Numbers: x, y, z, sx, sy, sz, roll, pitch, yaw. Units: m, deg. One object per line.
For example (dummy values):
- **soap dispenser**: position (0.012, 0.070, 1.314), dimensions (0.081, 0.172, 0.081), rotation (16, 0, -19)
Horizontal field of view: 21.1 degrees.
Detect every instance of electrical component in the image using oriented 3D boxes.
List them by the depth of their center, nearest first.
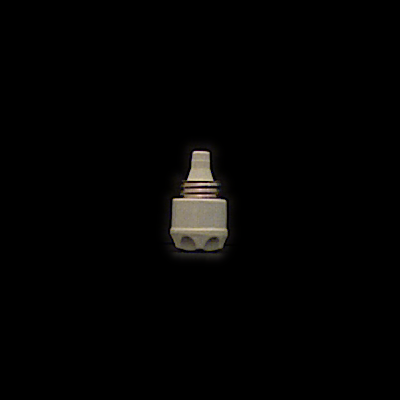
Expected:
- **electrical component**: position (0.000, 0.000, 0.661), dimensions (0.035, 0.061, 0.035), rotation (2, 1, 0)
